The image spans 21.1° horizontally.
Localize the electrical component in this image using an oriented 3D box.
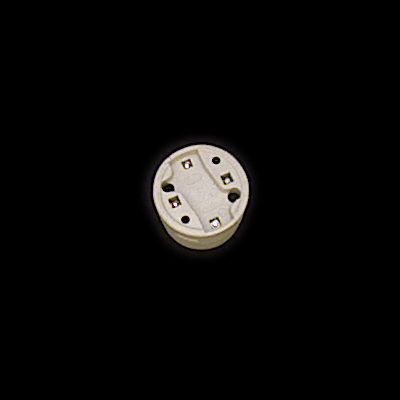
[{"bbox_3d":[0.000,0.000,0.634,0.055,0.056,0.047,0,-17,1],"label":"electrical component"}]
